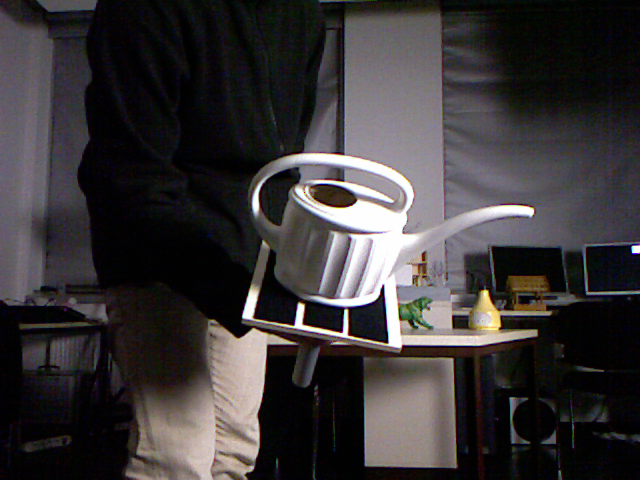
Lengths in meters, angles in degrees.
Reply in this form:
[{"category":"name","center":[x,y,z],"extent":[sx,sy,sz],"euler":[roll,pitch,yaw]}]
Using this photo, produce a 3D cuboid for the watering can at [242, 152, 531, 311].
[{"category":"watering can","center":[0.069,0.001,0.661],"extent":[0.347,0.219,0.106],"euler":[12,37,-4]}]
